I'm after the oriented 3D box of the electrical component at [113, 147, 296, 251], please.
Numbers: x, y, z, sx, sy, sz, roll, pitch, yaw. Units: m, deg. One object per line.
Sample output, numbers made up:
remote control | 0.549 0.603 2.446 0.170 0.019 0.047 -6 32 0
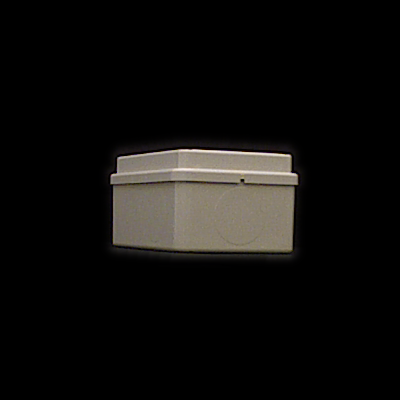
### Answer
electrical component | 0.000 0.000 0.650 0.078 0.057 0.113 1 0 -25
